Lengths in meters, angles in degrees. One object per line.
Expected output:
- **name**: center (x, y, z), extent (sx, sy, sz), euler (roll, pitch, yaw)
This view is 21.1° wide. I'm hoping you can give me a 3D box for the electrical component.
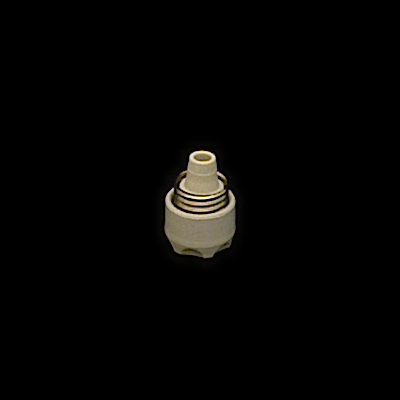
- **electrical component**: center (0.000, 0.000, 0.641), extent (0.043, 0.063, 0.043), euler (2, 33, -1)
